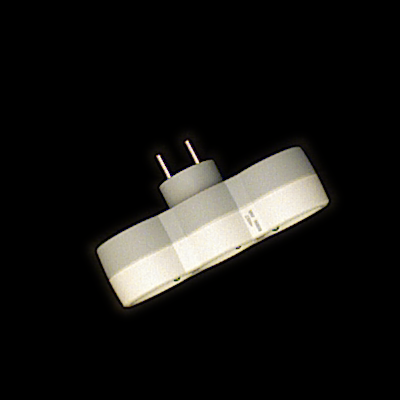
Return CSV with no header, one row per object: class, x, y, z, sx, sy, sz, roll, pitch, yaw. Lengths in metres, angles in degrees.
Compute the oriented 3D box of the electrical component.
electrical component,0.000,0.000,0.640,0.138,0.074,0.052,-27,-7,-3
